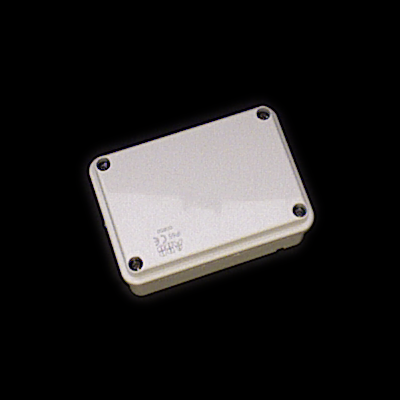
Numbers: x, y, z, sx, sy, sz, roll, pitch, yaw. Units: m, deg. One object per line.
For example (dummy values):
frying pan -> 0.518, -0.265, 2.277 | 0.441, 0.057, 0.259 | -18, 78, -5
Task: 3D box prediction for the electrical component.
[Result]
electrical component -> 0.000, 0.000, 0.626 | 0.113, 0.078, 0.057 | -18, -16, -5
